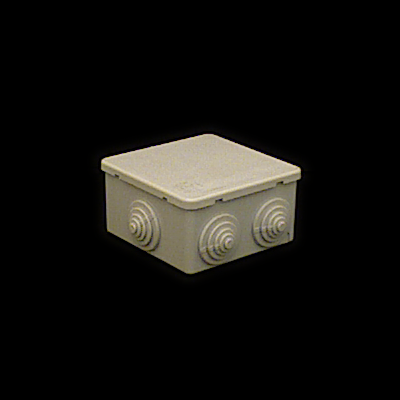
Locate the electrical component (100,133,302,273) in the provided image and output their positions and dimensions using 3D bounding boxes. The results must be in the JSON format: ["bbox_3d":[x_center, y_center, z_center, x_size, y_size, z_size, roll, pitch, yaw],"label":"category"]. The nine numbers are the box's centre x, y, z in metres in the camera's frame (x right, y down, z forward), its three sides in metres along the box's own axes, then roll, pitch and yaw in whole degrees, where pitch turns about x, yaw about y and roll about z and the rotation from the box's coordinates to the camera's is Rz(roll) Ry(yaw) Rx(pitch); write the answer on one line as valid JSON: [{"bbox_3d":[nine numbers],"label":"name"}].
[{"bbox_3d":[0.000,0.000,0.647,0.100,0.049,0.098,-16,28,-37],"label":"electrical component"}]
